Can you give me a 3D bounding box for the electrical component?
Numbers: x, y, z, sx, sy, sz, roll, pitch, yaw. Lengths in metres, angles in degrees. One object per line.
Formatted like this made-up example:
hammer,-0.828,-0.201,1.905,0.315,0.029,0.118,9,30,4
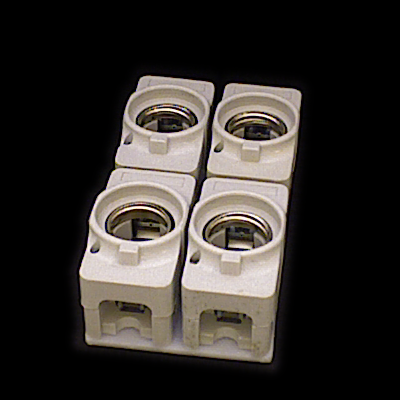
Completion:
electrical component,0.000,0.000,0.630,0.105,0.061,0.184,6,42,5
